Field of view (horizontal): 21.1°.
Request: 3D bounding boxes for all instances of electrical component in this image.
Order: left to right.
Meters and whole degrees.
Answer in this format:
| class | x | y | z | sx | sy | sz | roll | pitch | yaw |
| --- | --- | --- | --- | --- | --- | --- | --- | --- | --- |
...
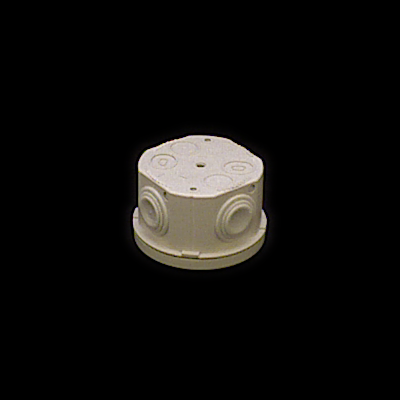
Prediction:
| class | x | y | z | sx | sy | sz | roll | pitch | yaw |
| --- | --- | --- | --- | --- | --- | --- | --- | --- | --- |
| electrical component | 0.000 | 0.000 | 0.636 | 0.080 | 0.051 | 0.079 | 1 | 32 | 0 |
